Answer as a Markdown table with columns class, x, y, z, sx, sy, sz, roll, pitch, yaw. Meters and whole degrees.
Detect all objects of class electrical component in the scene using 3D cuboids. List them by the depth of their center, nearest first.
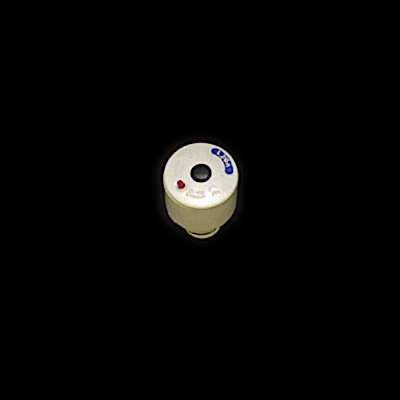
| class | x | y | z | sx | sy | sz | roll | pitch | yaw |
| --- | --- | --- | --- | --- | --- | --- | --- | --- | --- |
| electrical component | 0.000 | 0.000 | 0.617 | 0.040 | 0.040 | 0.078 | 0 | -27 | 1 |
